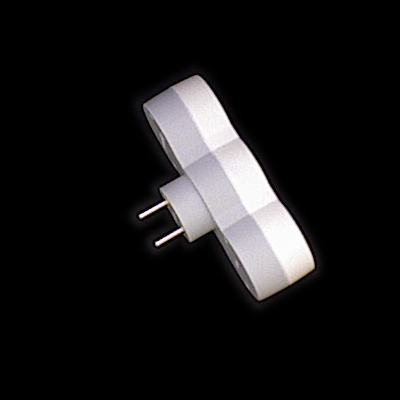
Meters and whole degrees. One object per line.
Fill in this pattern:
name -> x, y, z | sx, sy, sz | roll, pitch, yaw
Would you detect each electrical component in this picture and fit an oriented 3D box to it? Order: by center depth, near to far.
electrical component -> 0.000, 0.000, 0.630 | 0.074, 0.138, 0.052 | -30, -14, -6
